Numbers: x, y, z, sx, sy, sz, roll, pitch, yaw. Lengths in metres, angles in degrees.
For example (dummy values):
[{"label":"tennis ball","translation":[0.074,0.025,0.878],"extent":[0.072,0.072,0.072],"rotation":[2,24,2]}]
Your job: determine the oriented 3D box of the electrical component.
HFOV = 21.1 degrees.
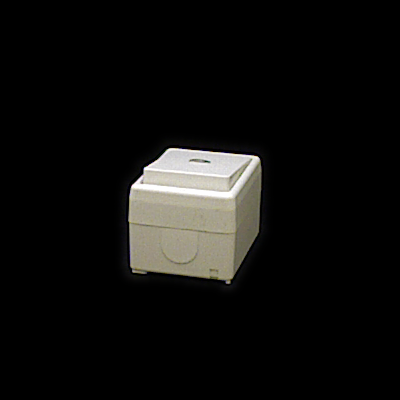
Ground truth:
[{"label":"electrical component","translation":[0.000,0.000,0.641],"extent":[0.061,0.061,0.095],"rotation":[6,21,13]}]
